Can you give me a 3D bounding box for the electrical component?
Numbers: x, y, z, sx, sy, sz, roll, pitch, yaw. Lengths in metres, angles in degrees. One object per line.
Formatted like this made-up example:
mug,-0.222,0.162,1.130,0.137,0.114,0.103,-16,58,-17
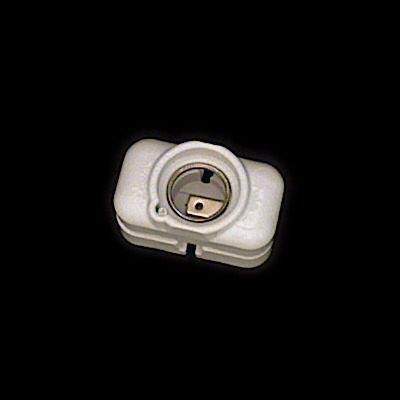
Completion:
electrical component,0.000,0.000,0.633,0.095,0.054,0.059,12,-16,3
